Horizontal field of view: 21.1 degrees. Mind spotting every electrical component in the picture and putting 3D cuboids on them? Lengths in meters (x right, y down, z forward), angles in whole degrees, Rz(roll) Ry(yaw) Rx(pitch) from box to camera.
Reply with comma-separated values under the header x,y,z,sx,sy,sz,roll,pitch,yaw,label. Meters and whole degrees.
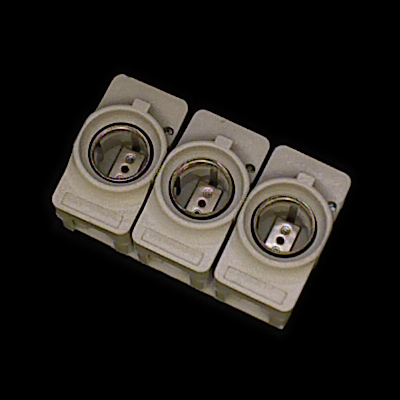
x,y,z,sx,sy,sz,roll,pitch,yaw,label
0.000,0.000,0.632,0.150,0.089,0.062,25,-16,7,electrical component
